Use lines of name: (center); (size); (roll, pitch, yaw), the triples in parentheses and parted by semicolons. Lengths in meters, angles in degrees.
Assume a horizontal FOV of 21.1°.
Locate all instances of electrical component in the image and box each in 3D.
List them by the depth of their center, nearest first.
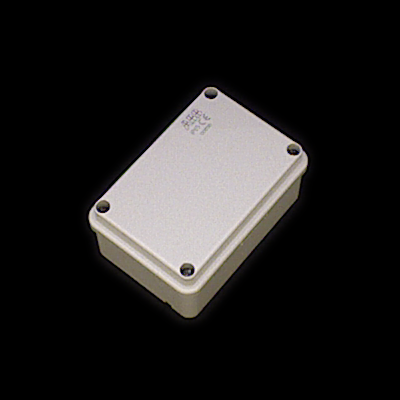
electrical component: (0.000, 0.000, 0.627); (0.078, 0.113, 0.057); (36, -22, 16)
